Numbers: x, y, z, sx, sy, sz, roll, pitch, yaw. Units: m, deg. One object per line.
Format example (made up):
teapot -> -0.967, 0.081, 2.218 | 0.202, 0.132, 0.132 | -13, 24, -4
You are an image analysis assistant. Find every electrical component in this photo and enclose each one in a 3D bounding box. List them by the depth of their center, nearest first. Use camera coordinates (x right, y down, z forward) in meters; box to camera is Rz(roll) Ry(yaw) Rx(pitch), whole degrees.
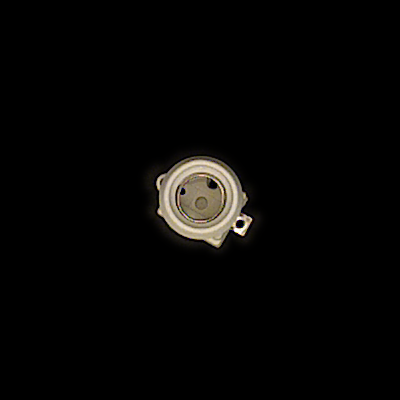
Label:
electrical component -> 0.000, 0.000, 0.639 | 0.066, 0.048, 0.055 | 28, -3, 3
